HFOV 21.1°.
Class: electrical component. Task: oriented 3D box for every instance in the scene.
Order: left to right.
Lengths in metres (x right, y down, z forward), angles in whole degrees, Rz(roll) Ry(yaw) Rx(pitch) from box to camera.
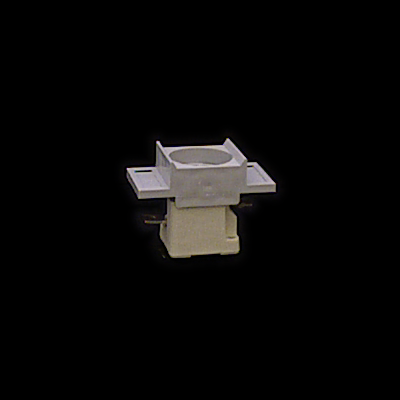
[{"bbox_3d":[0.000,0.000,0.636,0.081,0.064,0.041,-3,23,-13],"label":"electrical component"}]
